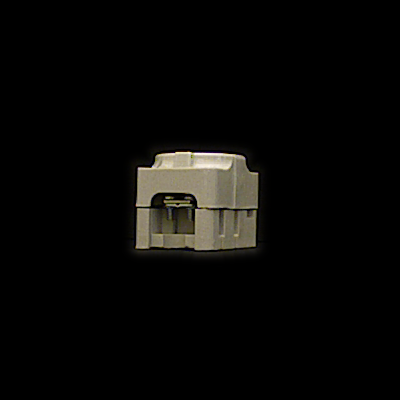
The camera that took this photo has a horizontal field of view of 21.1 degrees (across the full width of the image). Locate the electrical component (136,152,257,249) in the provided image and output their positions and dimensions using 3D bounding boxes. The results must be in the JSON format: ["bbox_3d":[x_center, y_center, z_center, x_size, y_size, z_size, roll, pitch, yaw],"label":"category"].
[{"bbox_3d":[0.000,0.000,0.657,0.050,0.056,0.090,2,1,19],"label":"electrical component"}]
